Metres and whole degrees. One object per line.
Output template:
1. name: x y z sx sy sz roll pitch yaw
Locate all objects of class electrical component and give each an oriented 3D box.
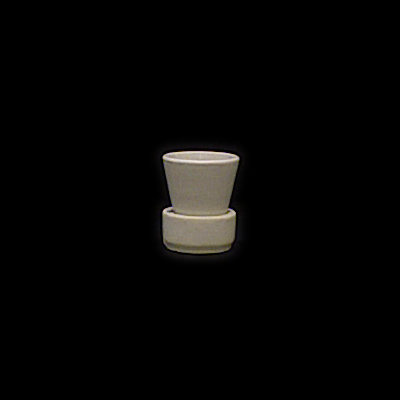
1. electrical component: 0.000 0.000 0.644 0.045 0.055 0.044 1 12 0
